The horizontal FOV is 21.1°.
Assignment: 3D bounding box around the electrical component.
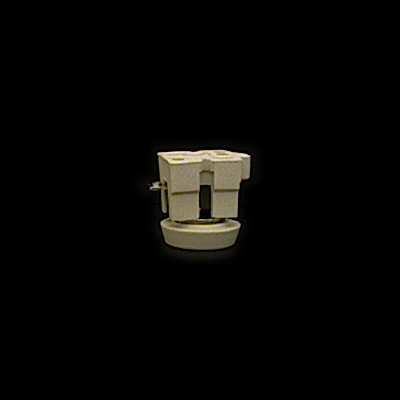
[{"bbox_3d":[0.000,0.000,0.653,0.067,0.056,0.048,-3,14,-14],"label":"electrical component"}]
